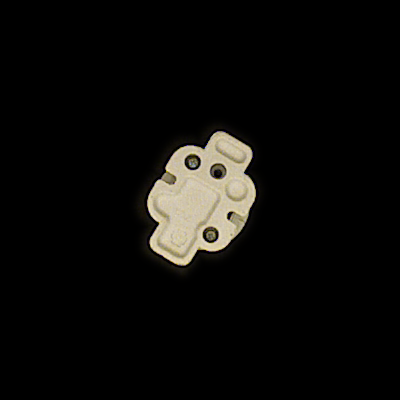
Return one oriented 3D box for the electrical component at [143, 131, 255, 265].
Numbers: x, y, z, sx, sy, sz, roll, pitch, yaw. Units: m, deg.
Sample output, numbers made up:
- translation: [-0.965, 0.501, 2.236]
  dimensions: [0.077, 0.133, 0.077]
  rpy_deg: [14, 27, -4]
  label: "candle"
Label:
- translation: [0.000, 0.000, 0.636]
  dimensions: [0.058, 0.078, 0.056]
  rpy_deg: [30, -3, 3]
  label: "electrical component"
